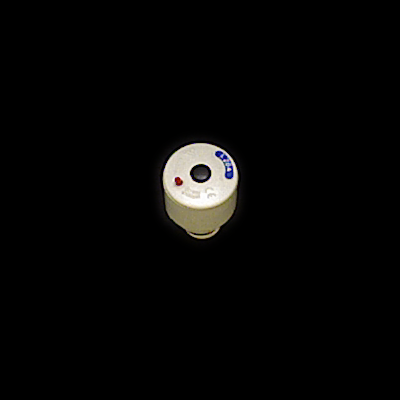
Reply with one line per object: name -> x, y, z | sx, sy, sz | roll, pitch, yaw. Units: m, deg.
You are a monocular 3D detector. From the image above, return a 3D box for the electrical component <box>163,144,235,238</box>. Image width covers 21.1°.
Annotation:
electrical component -> 0.000, 0.000, 0.618 | 0.040, 0.040, 0.078 | 0, -27, 1
